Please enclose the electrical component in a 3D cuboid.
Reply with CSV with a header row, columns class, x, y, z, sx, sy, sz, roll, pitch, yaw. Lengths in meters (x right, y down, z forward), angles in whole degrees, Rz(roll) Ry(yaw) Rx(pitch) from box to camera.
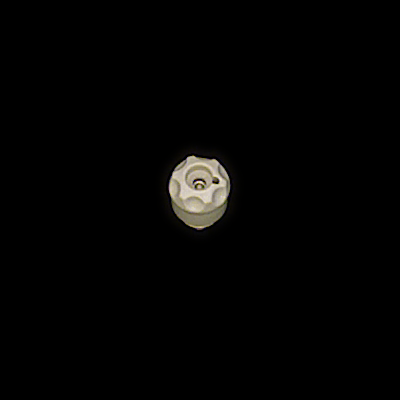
class,x,y,z,sx,sy,sz,roll,pitch,yaw
electrical component,0.000,0.000,0.633,0.035,0.035,0.061,0,-26,0
